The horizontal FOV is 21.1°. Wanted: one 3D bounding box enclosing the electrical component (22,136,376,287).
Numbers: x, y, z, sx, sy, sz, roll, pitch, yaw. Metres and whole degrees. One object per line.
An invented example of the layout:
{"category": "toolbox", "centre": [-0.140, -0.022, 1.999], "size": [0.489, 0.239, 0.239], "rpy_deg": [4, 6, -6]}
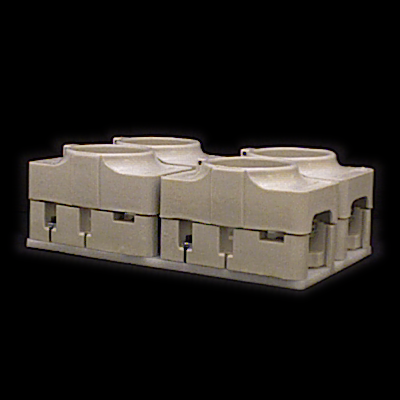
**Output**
{"category": "electrical component", "centre": [0.000, 0.000, 0.643], "size": [0.185, 0.060, 0.105], "rpy_deg": [6, 11, 29]}
